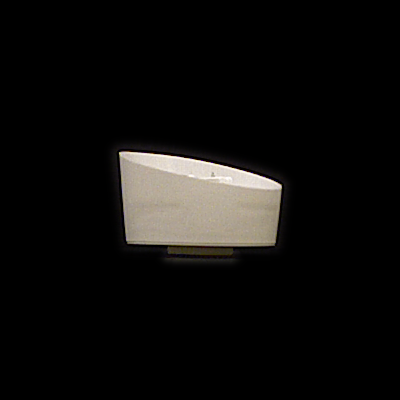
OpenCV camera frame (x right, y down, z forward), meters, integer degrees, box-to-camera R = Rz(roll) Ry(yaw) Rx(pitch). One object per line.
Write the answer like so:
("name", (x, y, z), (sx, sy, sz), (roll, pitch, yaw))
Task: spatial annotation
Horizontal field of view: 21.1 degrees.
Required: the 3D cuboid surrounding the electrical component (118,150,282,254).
("electrical component", (0.000, 0.000, 0.649), (0.099, 0.064, 0.099), (0, 0, 0))
